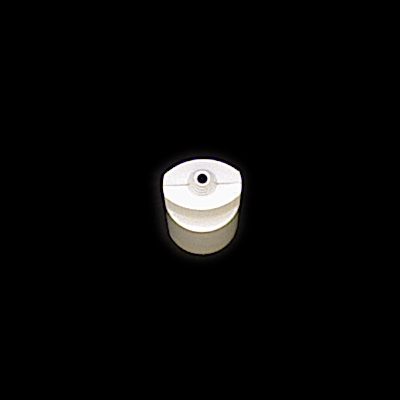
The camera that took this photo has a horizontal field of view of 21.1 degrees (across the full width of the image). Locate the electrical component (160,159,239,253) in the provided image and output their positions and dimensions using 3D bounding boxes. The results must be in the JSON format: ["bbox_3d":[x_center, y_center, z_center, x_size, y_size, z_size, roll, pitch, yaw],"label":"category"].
[{"bbox_3d":[0.000,0.000,0.616,0.043,0.043,0.080,0,-17,0],"label":"electrical component"}]
